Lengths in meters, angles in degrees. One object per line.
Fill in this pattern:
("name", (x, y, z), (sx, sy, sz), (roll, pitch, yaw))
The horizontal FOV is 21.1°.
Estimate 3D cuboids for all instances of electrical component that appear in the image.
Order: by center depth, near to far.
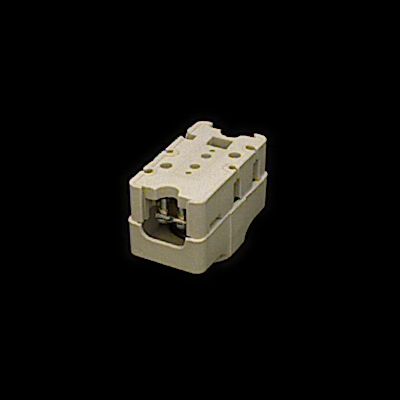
("electrical component", (0.000, 0.000, 0.643), (0.050, 0.056, 0.089), (16, 34, 23))
